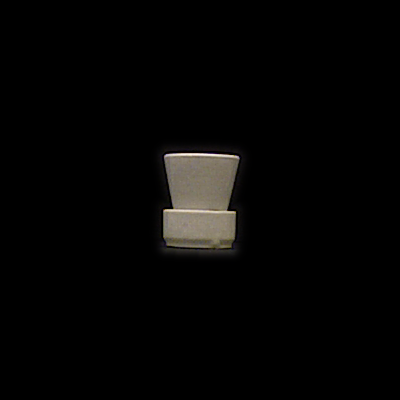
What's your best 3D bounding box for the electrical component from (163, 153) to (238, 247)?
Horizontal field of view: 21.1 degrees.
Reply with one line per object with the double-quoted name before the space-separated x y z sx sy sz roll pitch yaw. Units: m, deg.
"electrical component" 0.000 0.000 0.652 0.045 0.055 0.045 2 1 0
